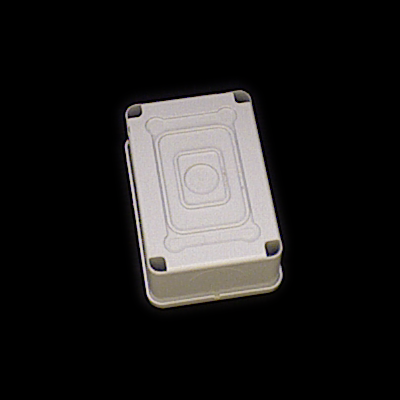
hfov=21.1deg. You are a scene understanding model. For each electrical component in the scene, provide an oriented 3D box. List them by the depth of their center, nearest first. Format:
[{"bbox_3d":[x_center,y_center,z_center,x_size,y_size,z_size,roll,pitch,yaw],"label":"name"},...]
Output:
[{"bbox_3d":[0.000,0.000,0.628,0.078,0.113,0.057,-8,-26,-4],"label":"electrical component"}]
